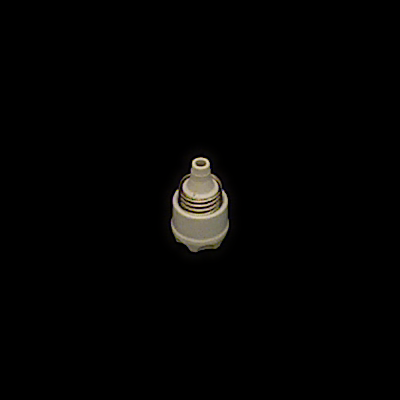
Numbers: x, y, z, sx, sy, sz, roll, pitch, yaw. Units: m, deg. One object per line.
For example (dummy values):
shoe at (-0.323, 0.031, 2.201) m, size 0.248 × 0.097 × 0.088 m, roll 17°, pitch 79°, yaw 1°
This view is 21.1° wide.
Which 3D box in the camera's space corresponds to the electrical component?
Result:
electrical component at (0.000, 0.000, 0.644) m, size 0.035 × 0.062 × 0.034 m, roll 0°, pitch 44°, yaw 0°
